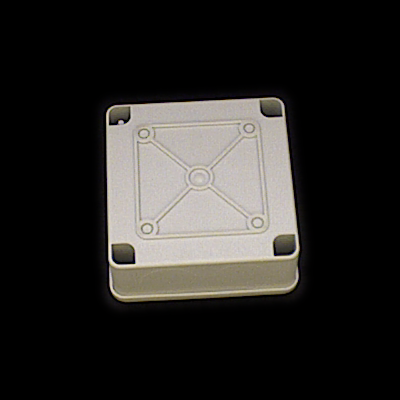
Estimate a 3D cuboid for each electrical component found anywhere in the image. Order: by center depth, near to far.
[{"bbox_3d":[0.000,0.000,0.628,0.109,0.109,0.056,-3,-28,-2],"label":"electrical component"}]
